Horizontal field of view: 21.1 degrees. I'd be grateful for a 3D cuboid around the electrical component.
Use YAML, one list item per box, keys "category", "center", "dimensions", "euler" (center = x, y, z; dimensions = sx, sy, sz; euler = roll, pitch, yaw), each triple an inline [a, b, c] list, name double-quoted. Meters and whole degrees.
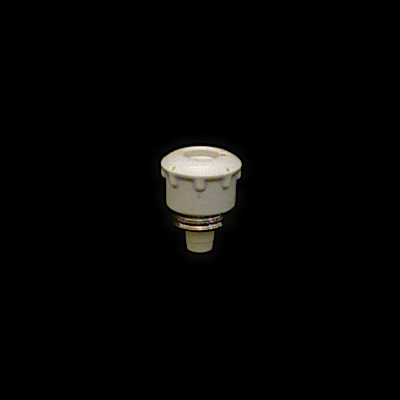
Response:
- category: "electrical component"
  center: [0.000, 0.000, 0.648]
  dimensions: [0.048, 0.063, 0.047]
  euler: [1, 22, 0]
